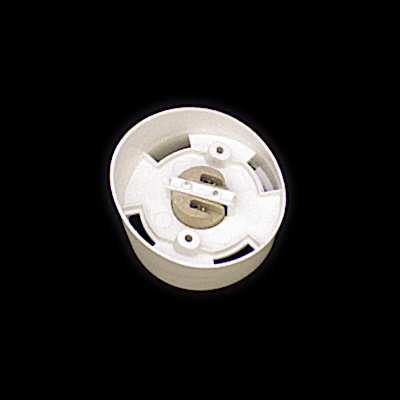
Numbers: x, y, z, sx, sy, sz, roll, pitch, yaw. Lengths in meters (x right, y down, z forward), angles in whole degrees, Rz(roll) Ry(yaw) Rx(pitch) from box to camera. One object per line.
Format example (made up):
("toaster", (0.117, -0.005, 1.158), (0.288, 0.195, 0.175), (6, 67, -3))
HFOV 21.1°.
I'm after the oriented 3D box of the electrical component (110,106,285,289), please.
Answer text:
("electrical component", (0.000, 0.000, 0.624), (0.099, 0.099, 0.064), (0, -27, 1))
